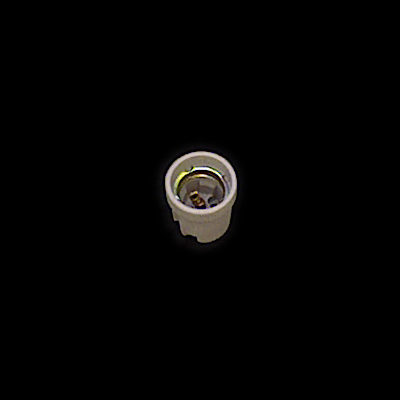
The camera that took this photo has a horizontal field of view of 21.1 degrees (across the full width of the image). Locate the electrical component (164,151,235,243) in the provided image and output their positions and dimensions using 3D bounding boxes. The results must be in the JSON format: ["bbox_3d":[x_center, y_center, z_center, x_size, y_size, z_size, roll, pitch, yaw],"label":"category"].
[{"bbox_3d":[0.000,0.000,0.627,0.040,0.040,0.046,0,-27,0],"label":"electrical component"}]
